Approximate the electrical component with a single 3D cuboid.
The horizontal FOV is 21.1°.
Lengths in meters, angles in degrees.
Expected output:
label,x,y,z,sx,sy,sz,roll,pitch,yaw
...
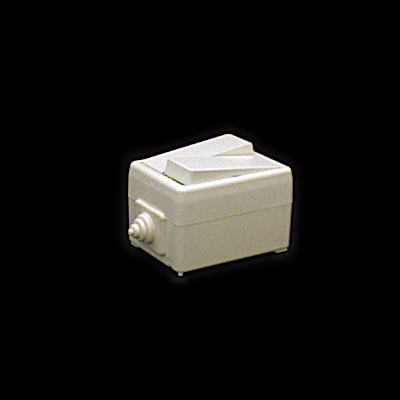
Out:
label,x,y,z,sx,sy,sz,roll,pitch,yaw
electrical component,0.000,0.000,0.637,0.096,0.061,0.061,-11,24,-30
